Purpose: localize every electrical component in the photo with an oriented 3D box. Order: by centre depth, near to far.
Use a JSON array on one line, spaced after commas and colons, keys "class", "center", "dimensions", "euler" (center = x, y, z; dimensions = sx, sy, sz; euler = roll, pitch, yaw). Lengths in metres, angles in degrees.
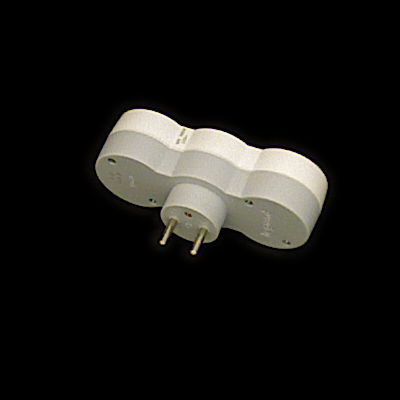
[{"class": "electrical component", "center": [0.000, 0.000, 0.637], "dimensions": [0.137, 0.074, 0.052], "euler": [17, -34, 12]}]
